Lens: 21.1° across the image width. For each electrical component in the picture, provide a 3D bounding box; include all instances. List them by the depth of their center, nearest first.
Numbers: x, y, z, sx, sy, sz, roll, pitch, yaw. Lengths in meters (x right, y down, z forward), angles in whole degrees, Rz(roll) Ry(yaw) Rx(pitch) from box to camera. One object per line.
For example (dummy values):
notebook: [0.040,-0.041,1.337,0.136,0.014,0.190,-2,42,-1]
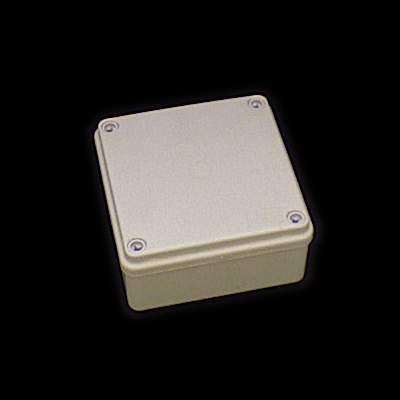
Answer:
electrical component: [0.000,0.000,0.631,0.109,0.108,0.056,-10,-38,-8]
